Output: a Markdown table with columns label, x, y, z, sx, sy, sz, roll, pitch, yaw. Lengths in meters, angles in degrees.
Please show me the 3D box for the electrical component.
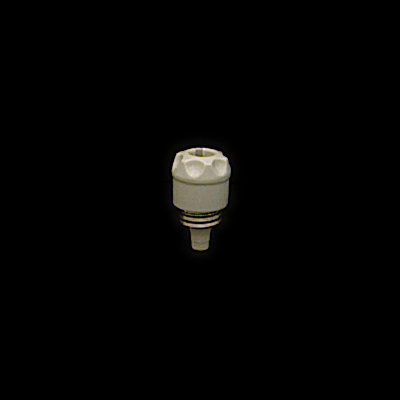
| label | x | y | z | sx | sy | sz | roll | pitch | yaw |
| --- | --- | --- | --- | --- | --- | --- | --- | --- | --- |
| electrical component | 0.000 | 0.000 | 0.648 | 0.035 | 0.062 | 0.034 | 1 | 22 | 0 |
